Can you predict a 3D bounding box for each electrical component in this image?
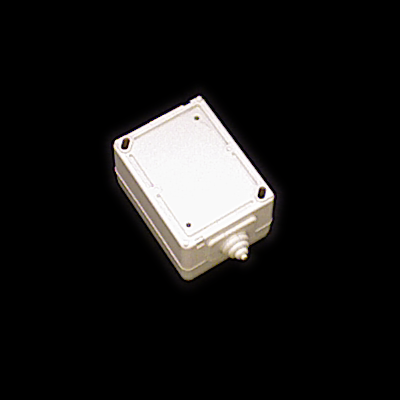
[{"bbox_3d":[0.000,0.000,0.626,0.062,0.096,0.060,-30,-23,-14],"label":"electrical component"}]
